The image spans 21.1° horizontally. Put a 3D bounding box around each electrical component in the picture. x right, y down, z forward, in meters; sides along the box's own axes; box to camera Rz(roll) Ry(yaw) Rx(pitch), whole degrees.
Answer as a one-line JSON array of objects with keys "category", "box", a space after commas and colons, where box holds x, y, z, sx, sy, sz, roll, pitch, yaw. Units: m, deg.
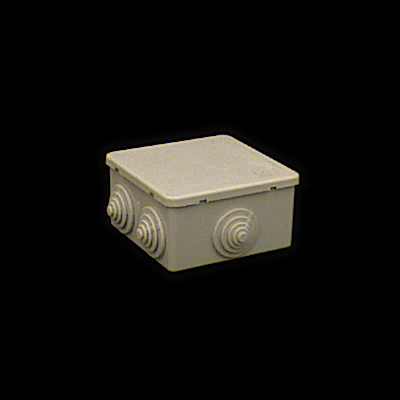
[{"category": "electrical component", "box": [0.000, 0.000, 0.649, 0.100, 0.049, 0.098, -11, 25, -28]}]
